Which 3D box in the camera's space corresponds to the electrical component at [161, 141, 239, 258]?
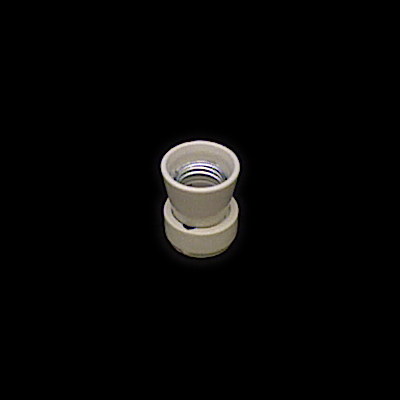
[{"bbox_3d":[0.000,0.000,0.631,0.045,0.055,0.044,0,41,0],"label":"electrical component"}]
